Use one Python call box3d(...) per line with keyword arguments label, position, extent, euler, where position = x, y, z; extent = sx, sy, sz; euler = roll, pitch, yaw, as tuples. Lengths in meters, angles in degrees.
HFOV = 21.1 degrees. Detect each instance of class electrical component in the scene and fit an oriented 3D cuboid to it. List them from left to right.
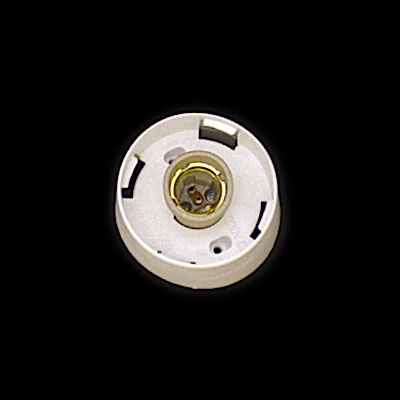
box3d(label="electrical component", position=(0.000, 0.000, 0.624), extent=(0.099, 0.099, 0.063), euler=(0, -17, -1))
